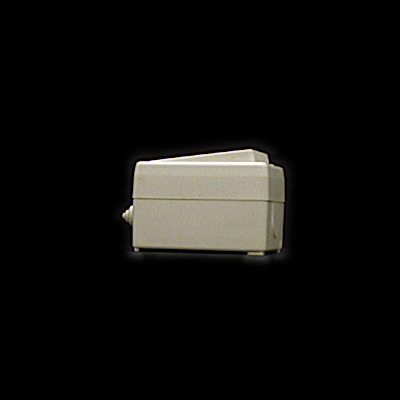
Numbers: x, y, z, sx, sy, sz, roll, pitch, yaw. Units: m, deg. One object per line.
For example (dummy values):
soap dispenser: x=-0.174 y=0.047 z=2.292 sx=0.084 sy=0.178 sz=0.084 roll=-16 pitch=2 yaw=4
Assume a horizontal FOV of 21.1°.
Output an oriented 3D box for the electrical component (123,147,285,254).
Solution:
electrical component: x=0.000 y=0.000 z=0.651 sx=0.096 sy=0.061 sz=0.062 roll=1 pitch=0 yaw=14
